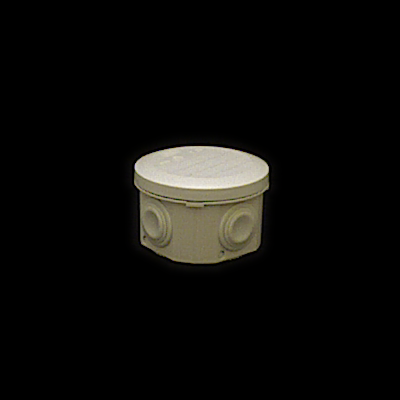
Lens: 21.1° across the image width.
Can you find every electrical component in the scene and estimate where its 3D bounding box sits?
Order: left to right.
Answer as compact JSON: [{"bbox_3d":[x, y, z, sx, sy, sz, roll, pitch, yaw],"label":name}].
[{"bbox_3d":[0.000,0.000,0.642,0.080,0.051,0.079,1,21,0],"label":"electrical component"}]
